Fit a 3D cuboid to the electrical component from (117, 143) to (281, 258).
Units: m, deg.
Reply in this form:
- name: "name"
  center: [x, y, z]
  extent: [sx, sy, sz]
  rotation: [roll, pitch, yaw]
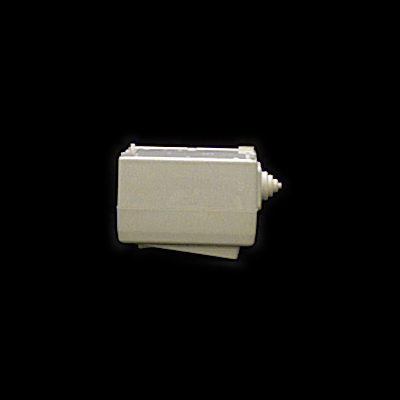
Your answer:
- name: "electrical component"
  center: [0.000, 0.000, 0.646]
  extent: [0.096, 0.061, 0.061]
  rotation: [1, 10, 2]
